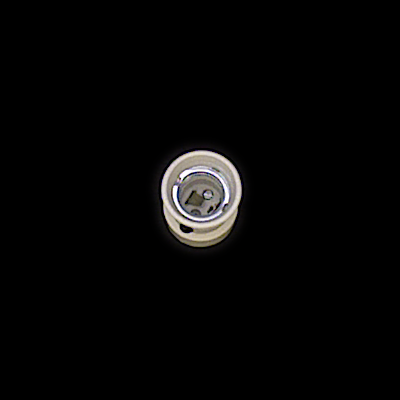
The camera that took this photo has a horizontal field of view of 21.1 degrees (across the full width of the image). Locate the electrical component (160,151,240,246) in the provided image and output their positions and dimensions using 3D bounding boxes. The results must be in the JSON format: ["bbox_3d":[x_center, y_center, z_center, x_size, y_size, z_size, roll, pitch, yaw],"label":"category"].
[{"bbox_3d":[0.000,0.000,0.628,0.045,0.045,0.055,0,-16,0],"label":"electrical component"}]
